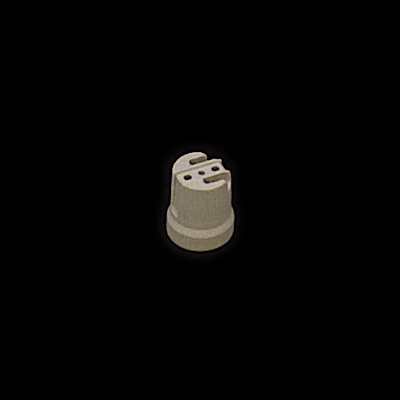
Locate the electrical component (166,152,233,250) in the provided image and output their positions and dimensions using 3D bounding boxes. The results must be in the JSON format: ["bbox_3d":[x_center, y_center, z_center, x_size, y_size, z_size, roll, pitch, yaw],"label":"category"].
[{"bbox_3d":[0.000,0.000,0.635,0.040,0.046,0.040,0,43,0],"label":"electrical component"}]
